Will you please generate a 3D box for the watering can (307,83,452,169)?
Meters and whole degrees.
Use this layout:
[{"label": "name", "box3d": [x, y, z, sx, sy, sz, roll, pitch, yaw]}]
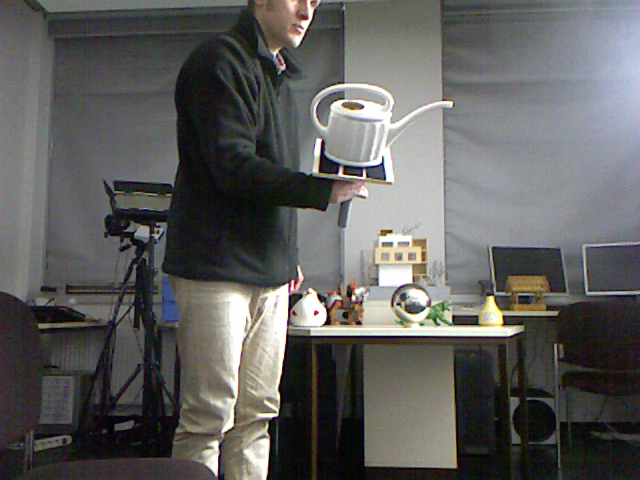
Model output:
[{"label": "watering can", "box3d": [0.138, -0.280, 1.299, 0.349, 0.219, 0.107, 7, 38, -1]}]
